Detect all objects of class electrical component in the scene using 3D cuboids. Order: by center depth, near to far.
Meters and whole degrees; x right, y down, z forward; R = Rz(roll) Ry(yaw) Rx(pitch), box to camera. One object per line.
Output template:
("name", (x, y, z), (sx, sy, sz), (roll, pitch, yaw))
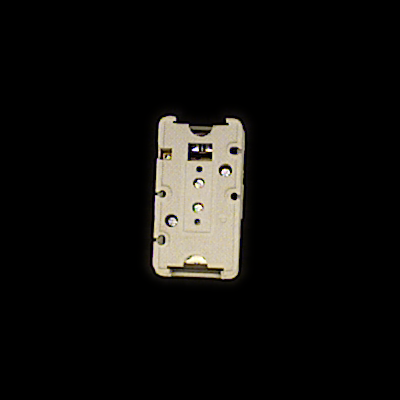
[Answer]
("electrical component", (0.000, 0.000, 0.637), (0.050, 0.090, 0.055), (2, -7, 1))
